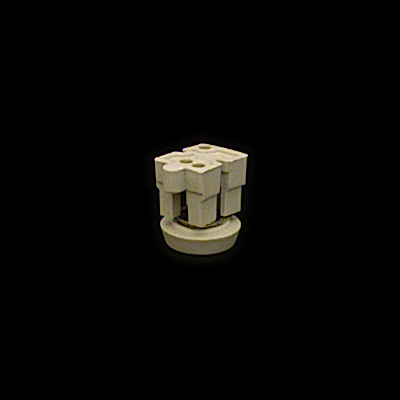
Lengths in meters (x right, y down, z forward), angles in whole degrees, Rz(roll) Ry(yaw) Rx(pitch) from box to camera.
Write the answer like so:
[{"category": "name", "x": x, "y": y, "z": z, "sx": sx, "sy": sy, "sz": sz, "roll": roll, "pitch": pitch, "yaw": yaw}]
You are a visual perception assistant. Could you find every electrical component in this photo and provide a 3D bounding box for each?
[{"category": "electrical component", "x": 0.000, "y": 0.000, "z": 0.646, "sx": 0.048, "sy": 0.056, "sz": 0.067, "roll": 17, "pitch": 26, "yaw": 36}]
